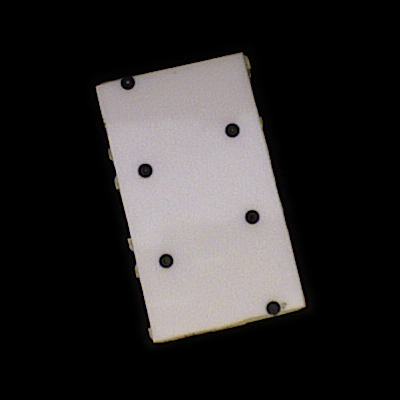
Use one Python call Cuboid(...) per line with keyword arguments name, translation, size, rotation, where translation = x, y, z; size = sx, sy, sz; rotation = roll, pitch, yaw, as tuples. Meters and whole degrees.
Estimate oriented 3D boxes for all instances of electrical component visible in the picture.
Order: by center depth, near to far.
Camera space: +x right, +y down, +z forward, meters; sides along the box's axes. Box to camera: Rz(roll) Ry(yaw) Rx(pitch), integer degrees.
Cuboid(name="electrical component", translation=(0.000, 0.000, 0.631), size=(0.089, 0.150, 0.061), rotation=(-13, -6, -2))
